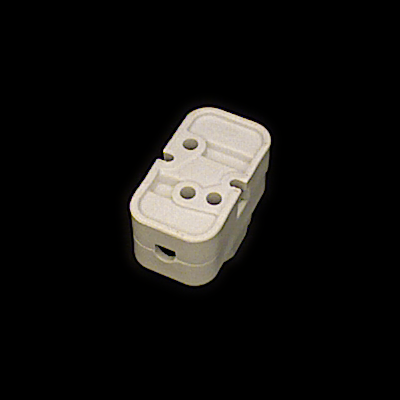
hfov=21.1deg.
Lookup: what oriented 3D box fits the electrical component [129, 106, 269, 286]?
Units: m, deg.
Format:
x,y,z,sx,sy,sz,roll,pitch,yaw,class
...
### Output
x,y,z,sx,sy,sz,roll,pitch,yaw,class
0.000,0.000,0.636,0.053,0.095,0.059,21,-35,15,electrical component
